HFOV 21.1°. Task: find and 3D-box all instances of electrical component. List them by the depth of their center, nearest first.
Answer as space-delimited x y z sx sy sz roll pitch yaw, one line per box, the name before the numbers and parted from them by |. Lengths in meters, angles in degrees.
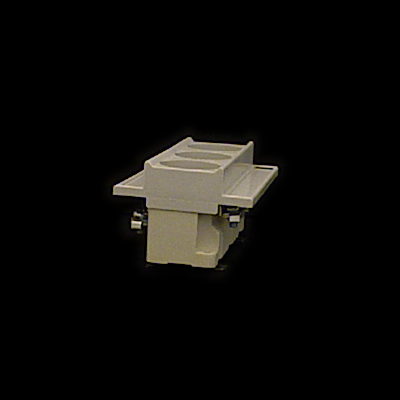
electrical component | 0.000 0.000 0.658 0.078 0.063 0.120 5 11 10
